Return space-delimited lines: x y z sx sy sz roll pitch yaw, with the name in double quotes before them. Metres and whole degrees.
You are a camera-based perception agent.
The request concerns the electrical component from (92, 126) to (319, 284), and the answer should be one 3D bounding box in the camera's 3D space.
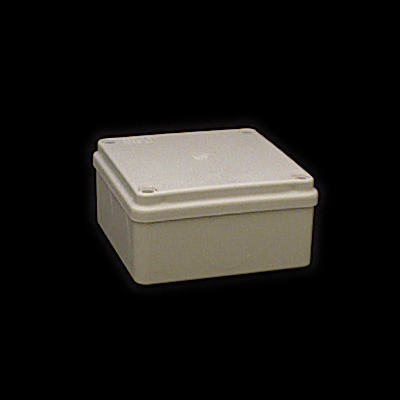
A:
"electrical component" 0.000 0.000 0.639 0.109 0.057 0.107 -5 22 -17
